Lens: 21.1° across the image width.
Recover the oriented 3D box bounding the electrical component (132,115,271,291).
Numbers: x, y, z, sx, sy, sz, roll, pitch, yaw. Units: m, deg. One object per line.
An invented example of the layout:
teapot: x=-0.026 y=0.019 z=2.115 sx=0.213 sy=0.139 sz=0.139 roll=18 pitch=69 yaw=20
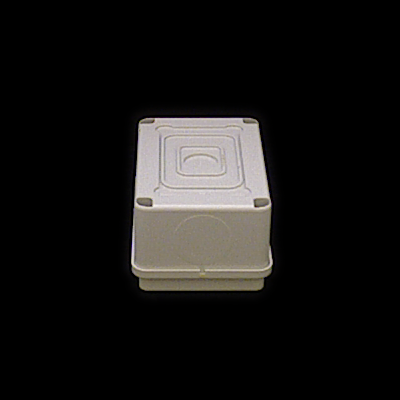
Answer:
electrical component: x=0.000 y=0.000 z=0.635 sx=0.078 sy=0.058 sz=0.111 roll=0 pitch=32 yaw=-2
